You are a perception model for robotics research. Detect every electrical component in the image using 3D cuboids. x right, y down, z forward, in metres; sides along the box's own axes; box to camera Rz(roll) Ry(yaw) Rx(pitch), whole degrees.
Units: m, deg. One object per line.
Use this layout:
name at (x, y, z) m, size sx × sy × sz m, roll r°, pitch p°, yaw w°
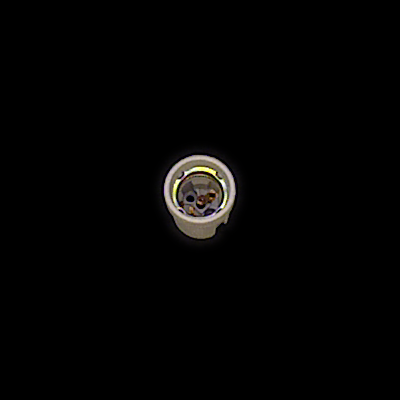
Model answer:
electrical component at (0.000, 0.000, 0.627) m, size 0.040 × 0.040 × 0.046 m, roll 0°, pitch -17°, yaw 0°
